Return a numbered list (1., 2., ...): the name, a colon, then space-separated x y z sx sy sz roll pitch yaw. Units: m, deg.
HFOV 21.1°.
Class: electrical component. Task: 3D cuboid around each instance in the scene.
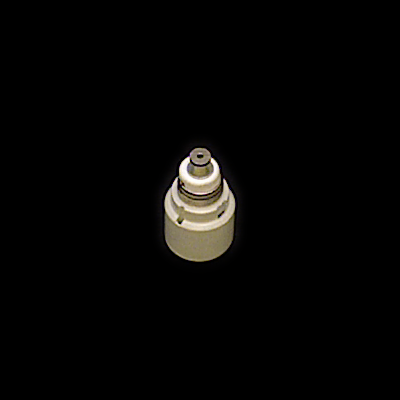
1. electrical component: 0.000 0.000 0.620 0.040 0.040 0.078 0 -39 -1
